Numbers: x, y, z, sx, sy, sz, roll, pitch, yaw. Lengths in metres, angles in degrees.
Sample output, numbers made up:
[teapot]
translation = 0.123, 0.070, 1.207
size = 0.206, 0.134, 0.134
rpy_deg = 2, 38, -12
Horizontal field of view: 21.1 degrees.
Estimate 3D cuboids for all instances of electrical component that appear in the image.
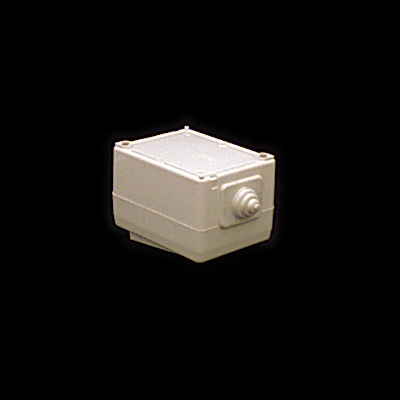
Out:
[electrical component]
translation = 0.000, 0.000, 0.636
size = 0.061, 0.061, 0.095
rpy_deg = -18, 28, -40
